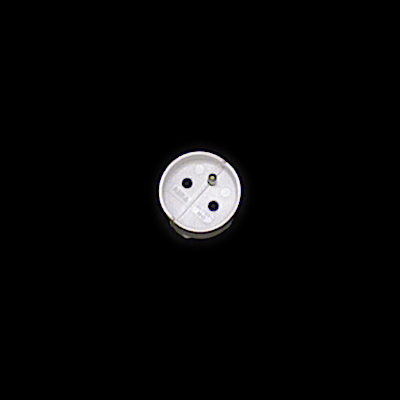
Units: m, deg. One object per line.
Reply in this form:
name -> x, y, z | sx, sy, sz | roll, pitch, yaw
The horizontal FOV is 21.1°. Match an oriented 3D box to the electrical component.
electrical component -> 0.000, 0.000, 0.616 | 0.043, 0.043, 0.080 | 0, -6, -1
